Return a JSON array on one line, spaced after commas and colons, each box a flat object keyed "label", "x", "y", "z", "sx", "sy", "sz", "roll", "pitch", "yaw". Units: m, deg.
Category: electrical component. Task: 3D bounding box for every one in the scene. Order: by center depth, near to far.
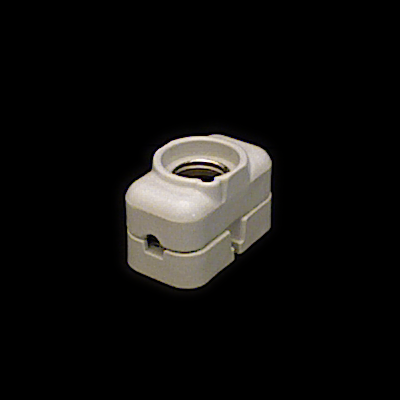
[{"label": "electrical component", "x": 0.000, "y": 0.000, "z": 0.640, "sx": 0.053, "sy": 0.060, "sz": 0.095, "roll": 20, "pitch": 37, "yaw": 29}]
